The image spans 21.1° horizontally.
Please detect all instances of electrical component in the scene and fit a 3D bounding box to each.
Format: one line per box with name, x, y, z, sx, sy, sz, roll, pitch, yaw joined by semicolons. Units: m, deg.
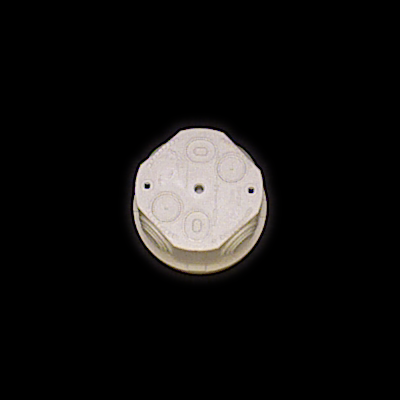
electrical component;0.000;0.000;0.632;0.080;0.080;0.050;0;-17;1
